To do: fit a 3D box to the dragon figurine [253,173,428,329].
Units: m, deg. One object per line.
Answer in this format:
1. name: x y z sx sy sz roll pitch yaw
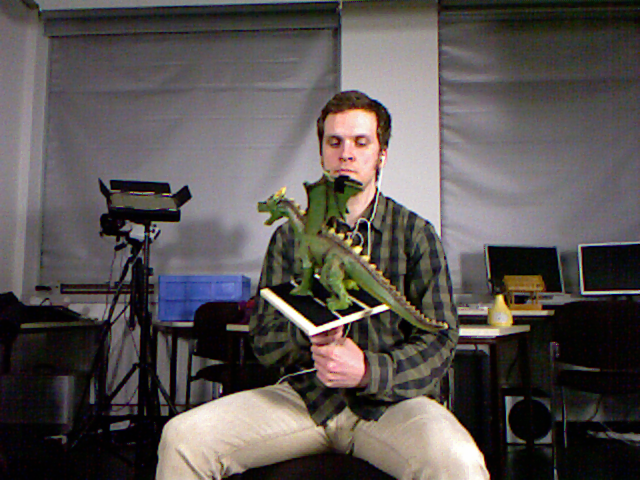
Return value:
1. dragon figurine: 0.028 -0.002 0.965 0.413 0.239 0.124 16 31 38
